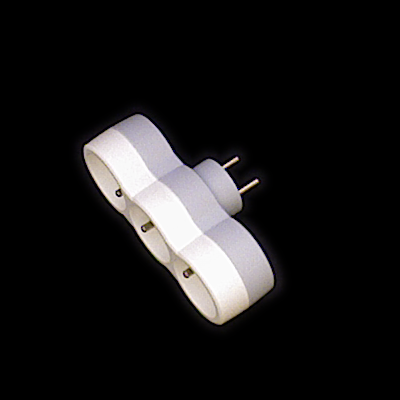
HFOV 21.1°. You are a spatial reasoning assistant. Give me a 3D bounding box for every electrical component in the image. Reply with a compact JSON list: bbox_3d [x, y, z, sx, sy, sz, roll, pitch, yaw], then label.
[{"bbox_3d":[0.000,0.000,0.631,0.074,0.138,0.052,-34,-23,-18],"label":"electrical component"}]
